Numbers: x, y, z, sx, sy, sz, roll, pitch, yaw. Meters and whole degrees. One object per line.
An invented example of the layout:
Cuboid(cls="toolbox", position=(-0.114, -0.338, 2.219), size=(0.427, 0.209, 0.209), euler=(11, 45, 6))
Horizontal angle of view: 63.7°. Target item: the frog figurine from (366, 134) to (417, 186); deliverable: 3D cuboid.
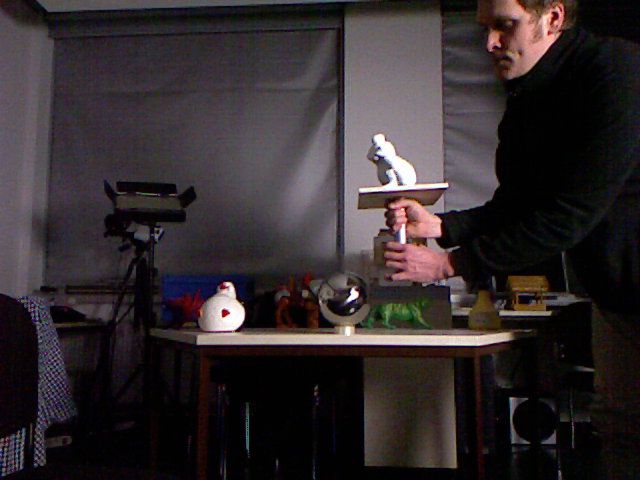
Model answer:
Cuboid(cls="frog figurine", position=(0.181, -0.189, 1.305), size=(0.122, 0.160, 0.137), euler=(-6, -4, 18))
